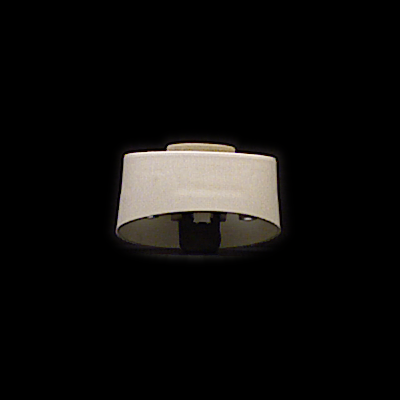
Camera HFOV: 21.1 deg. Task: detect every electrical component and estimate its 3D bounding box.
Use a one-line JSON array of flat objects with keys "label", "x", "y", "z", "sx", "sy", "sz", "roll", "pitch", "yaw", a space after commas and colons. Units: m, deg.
[{"label": "electrical component", "x": 0.000, "y": 0.000, "z": 0.649, "sx": 0.099, "sy": 0.064, "sz": 0.099, "roll": 1, "pitch": -1, "yaw": 0}]
